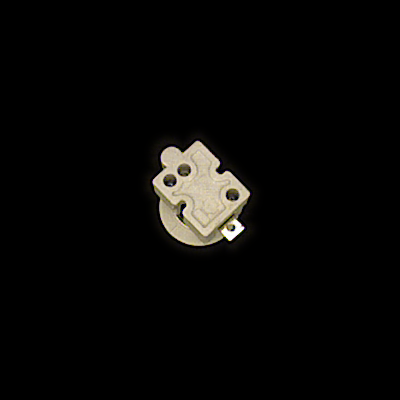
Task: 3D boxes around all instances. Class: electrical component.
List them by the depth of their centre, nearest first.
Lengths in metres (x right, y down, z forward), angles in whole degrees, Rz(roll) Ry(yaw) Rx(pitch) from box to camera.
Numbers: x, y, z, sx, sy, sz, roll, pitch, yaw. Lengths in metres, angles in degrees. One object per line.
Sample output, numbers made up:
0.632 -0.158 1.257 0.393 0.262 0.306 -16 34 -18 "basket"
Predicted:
0.000 0.000 0.637 0.049 0.066 0.055 -42 -11 -12 "electrical component"
